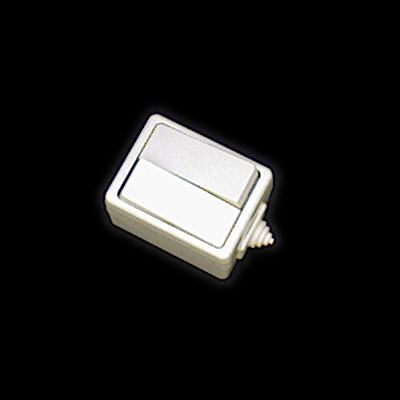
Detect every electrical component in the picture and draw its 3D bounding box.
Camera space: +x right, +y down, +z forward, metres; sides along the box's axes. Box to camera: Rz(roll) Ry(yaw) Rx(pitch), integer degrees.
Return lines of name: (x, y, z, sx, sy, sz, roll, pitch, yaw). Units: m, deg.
electrical component: (0.000, 0.000, 0.626, 0.096, 0.062, 0.060, 27, -15, 8)
